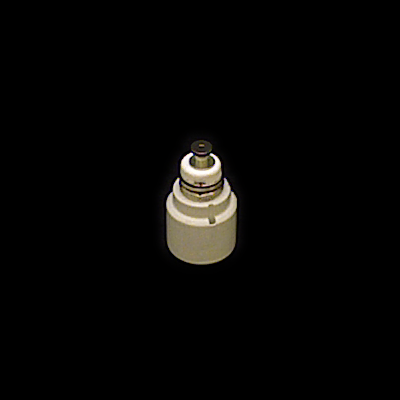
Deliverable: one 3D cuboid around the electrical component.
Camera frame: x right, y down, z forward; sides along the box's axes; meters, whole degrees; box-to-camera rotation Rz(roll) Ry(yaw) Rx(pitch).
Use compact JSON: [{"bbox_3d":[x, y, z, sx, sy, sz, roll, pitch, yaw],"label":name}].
[{"bbox_3d":[0.000,0.000,0.623,0.040,0.079,0.039,0,41,0],"label":"electrical component"}]
